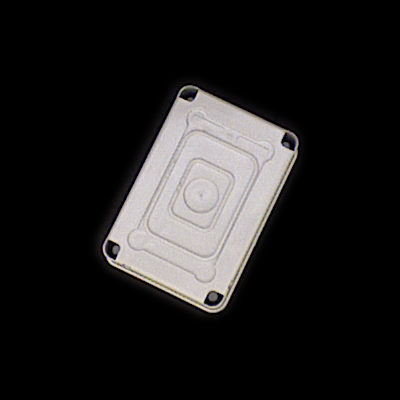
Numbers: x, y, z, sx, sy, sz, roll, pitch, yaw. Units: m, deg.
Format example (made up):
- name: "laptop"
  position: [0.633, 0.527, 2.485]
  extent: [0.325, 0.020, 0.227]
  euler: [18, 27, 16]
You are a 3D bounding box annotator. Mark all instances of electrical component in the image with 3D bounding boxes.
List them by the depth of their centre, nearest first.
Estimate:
- name: "electrical component"
  position: [0.000, 0.000, 0.628]
  extent: [0.078, 0.113, 0.057]
  euler: [26, -6, 3]
